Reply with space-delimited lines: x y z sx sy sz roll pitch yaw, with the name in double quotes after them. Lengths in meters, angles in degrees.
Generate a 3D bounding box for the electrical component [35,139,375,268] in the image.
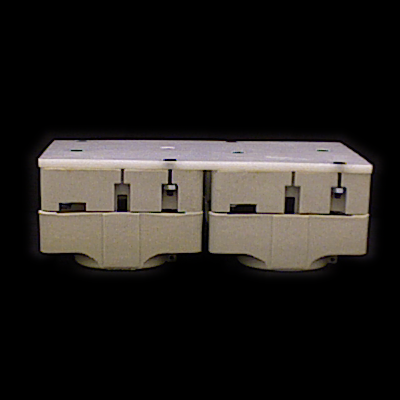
0.000 0.000 0.644 0.186 0.060 0.104 1 10 -3 "electrical component"
